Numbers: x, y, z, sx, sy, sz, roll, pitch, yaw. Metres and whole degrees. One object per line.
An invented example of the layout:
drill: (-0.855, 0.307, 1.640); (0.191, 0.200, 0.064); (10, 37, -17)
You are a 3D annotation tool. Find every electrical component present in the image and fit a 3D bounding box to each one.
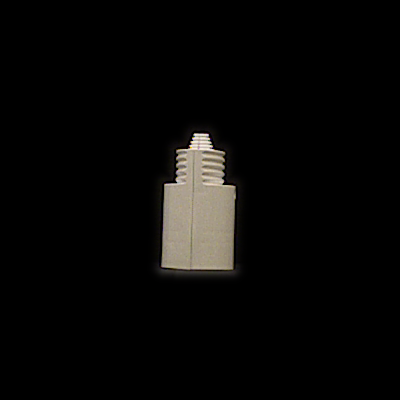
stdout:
electrical component: (-0.001, 0.000, 0.649); (0.043, 0.081, 0.043); (1, 1, 0)
